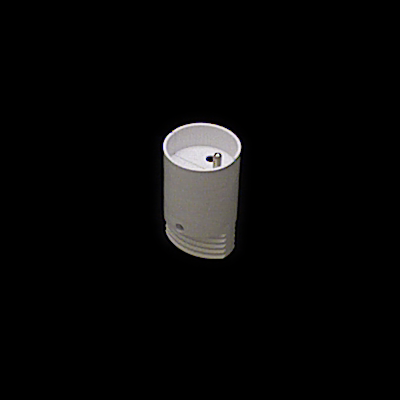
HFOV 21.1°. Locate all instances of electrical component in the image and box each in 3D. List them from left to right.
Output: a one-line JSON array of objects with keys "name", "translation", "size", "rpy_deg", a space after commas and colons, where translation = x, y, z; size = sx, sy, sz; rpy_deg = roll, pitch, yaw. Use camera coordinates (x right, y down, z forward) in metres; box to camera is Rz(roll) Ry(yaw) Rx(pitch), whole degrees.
[{"name": "electrical component", "translation": [0.000, 0.000, 0.624], "size": [0.043, 0.082, 0.042], "rpy_deg": [1, 42, 0]}]
